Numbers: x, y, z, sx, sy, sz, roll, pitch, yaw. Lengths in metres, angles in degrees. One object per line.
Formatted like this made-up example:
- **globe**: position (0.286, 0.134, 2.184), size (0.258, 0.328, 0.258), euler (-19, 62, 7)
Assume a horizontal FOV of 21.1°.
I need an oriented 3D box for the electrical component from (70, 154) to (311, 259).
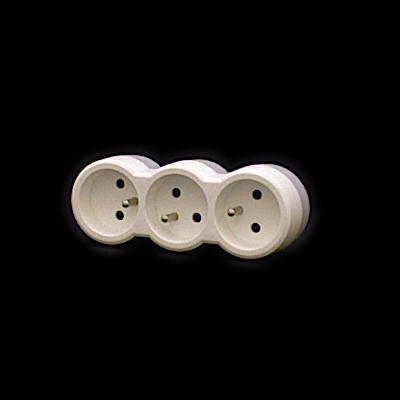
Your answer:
- **electrical component**: position (0.000, 0.000, 0.646), size (0.137, 0.052, 0.073), euler (4, 9, 21)
